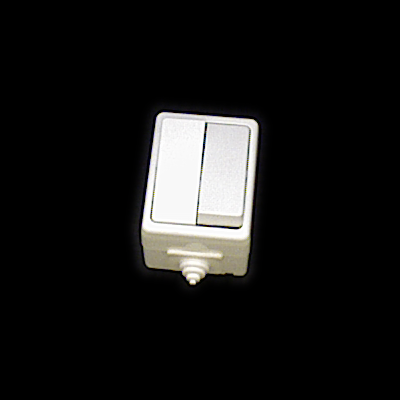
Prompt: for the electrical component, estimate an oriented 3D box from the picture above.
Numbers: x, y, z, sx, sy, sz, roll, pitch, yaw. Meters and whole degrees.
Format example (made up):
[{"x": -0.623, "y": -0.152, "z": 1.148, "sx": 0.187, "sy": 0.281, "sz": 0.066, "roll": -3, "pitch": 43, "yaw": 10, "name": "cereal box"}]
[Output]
[{"x": 0.000, "y": 0.000, "z": 0.625, "sx": 0.062, "sy": 0.097, "sz": 0.060, "roll": 5, "pitch": -28, "yaw": 3, "name": "electrical component"}]
